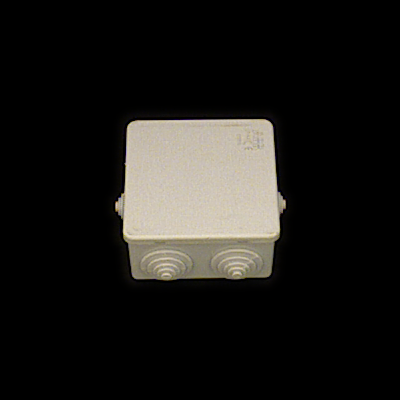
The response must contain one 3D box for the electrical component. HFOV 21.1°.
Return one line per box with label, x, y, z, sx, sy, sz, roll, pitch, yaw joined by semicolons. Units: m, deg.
electrical component;0.000;0.000;0.641;0.100;0.099;0.049;0;-37;-1
